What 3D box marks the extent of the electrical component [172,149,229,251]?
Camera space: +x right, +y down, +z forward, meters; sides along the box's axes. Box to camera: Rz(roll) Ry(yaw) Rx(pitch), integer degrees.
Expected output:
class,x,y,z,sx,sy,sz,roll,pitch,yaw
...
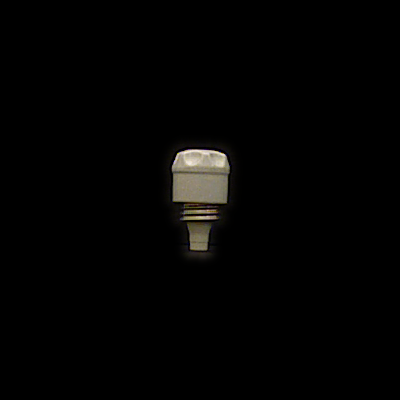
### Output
class,x,y,z,sx,sy,sz,roll,pitch,yaw
electrical component,0.000,0.000,0.658,0.035,0.061,0.035,2,2,0
